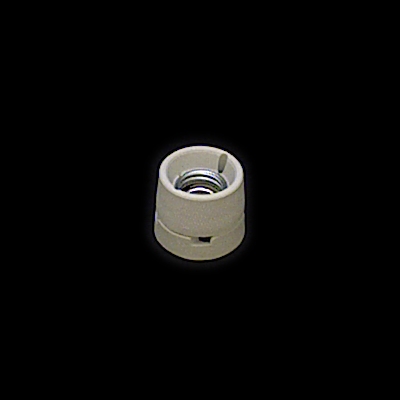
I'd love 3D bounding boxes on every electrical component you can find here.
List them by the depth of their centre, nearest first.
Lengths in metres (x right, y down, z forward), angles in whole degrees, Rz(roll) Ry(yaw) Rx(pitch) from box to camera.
[{"bbox_3d":[0.000,0.000,0.637,0.055,0.047,0.055,1,42,-1],"label":"electrical component"}]
